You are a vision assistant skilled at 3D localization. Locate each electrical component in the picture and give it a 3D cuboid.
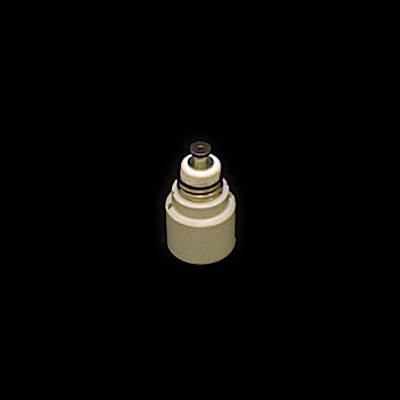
[{"bbox_3d":[0.000,0.000,0.624,0.040,0.079,0.039,0,43,0],"label":"electrical component"}]
